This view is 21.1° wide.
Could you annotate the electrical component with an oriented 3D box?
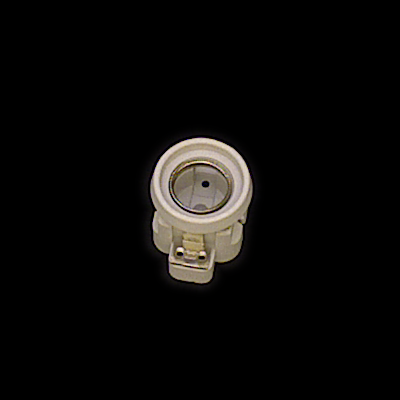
[{"bbox_3d":[0.000,0.000,0.627,0.058,0.078,0.056,9,-27,4],"label":"electrical component"}]
